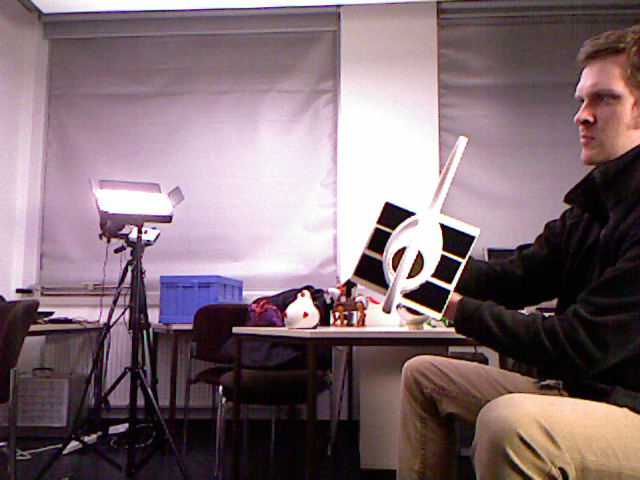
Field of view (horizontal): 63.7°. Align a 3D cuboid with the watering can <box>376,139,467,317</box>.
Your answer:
[{"bbox_3d":[0.190,-0.017,0.991,0.104,0.349,0.225,25,0,3],"label":"watering can"}]
